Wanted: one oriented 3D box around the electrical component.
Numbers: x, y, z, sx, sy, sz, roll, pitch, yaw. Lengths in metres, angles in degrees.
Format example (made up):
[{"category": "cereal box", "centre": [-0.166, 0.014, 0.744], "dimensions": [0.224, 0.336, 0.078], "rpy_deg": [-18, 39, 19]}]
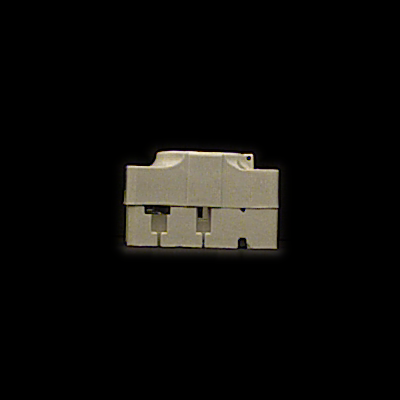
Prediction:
[{"category": "electrical component", "centre": [0.000, 0.000, 0.656], "dimensions": [0.090, 0.056, 0.050], "rpy_deg": [1, 1, -7]}]
